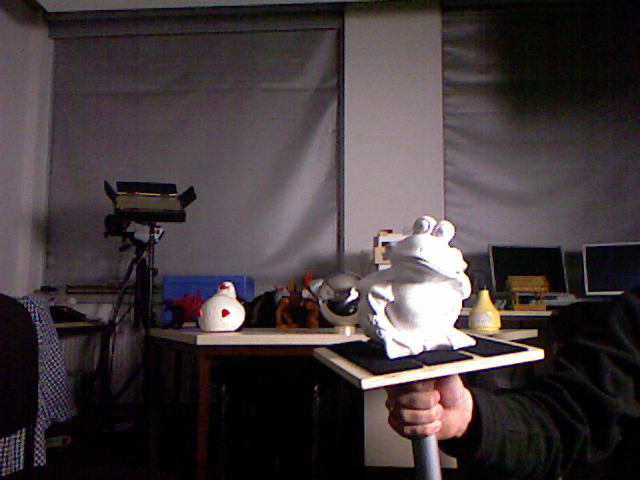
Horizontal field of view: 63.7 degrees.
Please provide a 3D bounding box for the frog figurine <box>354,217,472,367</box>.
[{"bbox_3d":[0.107,0.053,0.607,0.137,0.159,0.123,-5,2,1],"label":"frog figurine"}]
